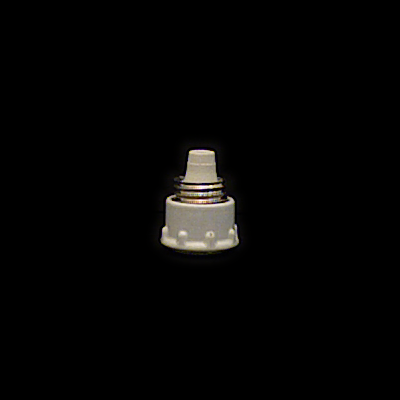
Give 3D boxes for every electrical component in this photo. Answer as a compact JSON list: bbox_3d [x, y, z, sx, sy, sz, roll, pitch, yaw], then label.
[{"bbox_3d":[0.000,0.000,0.652,0.048,0.062,0.048,2,11,0],"label":"electrical component"}]
